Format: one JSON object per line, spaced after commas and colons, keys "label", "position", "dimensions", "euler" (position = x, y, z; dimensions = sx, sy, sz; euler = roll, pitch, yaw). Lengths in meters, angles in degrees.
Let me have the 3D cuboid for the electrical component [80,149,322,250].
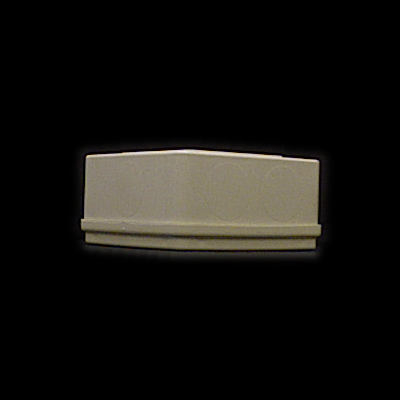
{"label": "electrical component", "position": [0.000, 0.000, 0.651], "dimensions": [0.109, 0.056, 0.108], "euler": [2, 0, -37]}
